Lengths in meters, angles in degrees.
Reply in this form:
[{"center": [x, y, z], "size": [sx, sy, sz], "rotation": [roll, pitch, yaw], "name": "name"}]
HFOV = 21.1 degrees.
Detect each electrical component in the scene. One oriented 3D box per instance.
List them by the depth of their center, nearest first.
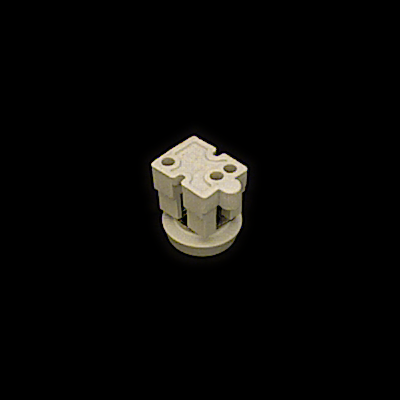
[{"center": [0.000, 0.000, 0.640], "size": [0.066, 0.056, 0.048], "rotation": [33, 53, 31], "name": "electrical component"}]
